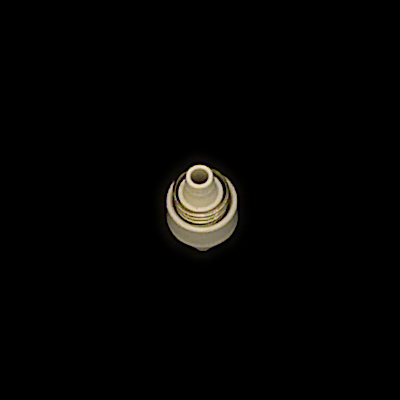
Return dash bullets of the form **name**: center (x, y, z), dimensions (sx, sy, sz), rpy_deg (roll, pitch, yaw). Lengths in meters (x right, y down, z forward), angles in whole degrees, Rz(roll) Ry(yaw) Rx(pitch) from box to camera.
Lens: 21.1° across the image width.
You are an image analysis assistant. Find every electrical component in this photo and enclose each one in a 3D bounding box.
- **electrical component**: center (0.000, 0.000, 0.634), dimensions (0.043, 0.043, 0.062), rpy_deg (0, -27, 2)
